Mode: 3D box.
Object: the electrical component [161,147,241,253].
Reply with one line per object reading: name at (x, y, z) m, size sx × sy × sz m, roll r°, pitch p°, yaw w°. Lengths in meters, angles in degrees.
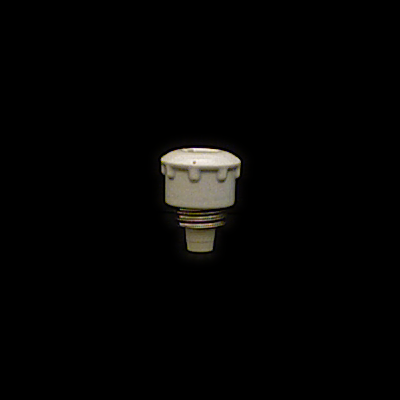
electrical component at (0.000, 0.000, 0.650) m, size 0.048 × 0.062 × 0.048 m, roll 1°, pitch 11°, yaw 0°
